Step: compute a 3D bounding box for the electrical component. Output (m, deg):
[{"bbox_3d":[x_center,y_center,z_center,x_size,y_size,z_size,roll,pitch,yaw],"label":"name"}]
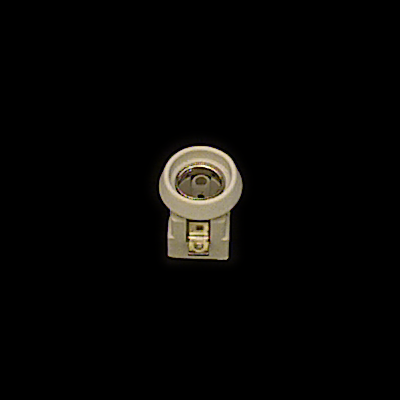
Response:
[{"bbox_3d":[0.000,0.000,0.637,0.048,0.066,0.056,0,-37,2],"label":"electrical component"}]
